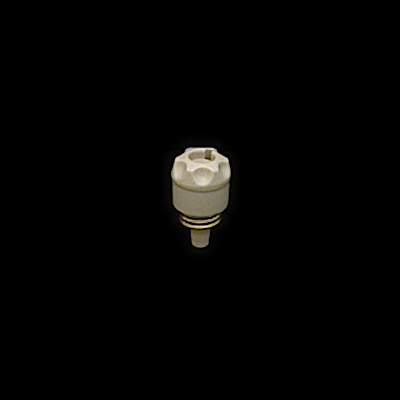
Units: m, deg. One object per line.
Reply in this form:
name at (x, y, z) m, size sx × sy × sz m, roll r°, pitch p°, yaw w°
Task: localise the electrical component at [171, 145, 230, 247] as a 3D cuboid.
electrical component at (0.000, 0.000, 0.642) m, size 0.035 × 0.062 × 0.034 m, roll 1°, pitch 32°, yaw 0°
